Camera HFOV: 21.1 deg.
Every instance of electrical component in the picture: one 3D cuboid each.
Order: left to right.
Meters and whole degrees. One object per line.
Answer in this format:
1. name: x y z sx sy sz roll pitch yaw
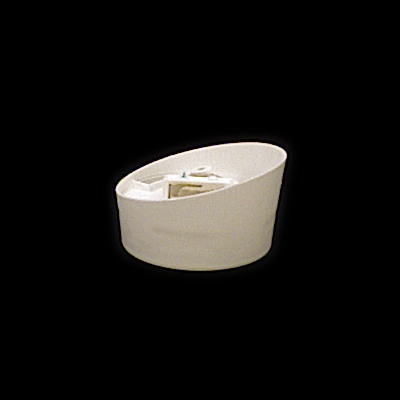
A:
1. electrical component: 0.000 0.000 0.638 0.099 0.065 0.097 2 20 -1
